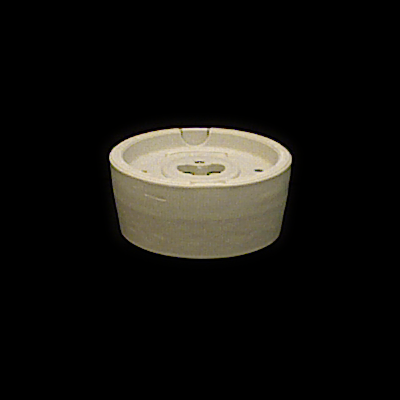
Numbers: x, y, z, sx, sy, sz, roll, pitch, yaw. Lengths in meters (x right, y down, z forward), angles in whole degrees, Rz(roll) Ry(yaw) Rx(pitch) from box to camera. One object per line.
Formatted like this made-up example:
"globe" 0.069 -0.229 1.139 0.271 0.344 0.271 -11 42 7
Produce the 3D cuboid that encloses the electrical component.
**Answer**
"electrical component" 0.000 0.000 0.649 0.108 0.061 0.106 1 22 0
